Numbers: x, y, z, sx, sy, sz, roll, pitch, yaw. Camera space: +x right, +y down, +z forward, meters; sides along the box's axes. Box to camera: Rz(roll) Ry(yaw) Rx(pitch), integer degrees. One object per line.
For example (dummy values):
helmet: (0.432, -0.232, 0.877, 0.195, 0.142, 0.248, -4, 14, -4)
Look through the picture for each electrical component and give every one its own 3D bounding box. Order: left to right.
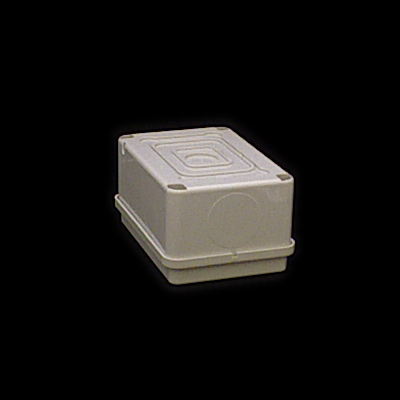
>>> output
electrical component: (0.000, 0.000, 0.639, 0.078, 0.058, 0.111, -6, 22, -19)
